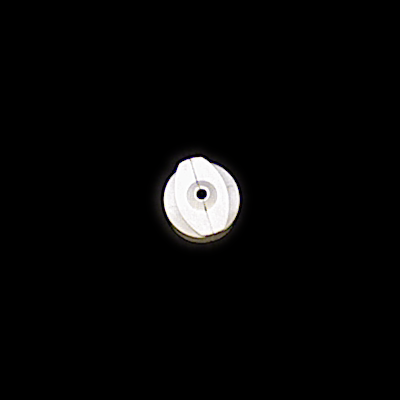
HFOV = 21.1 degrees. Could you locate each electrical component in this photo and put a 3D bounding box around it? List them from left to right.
[{"bbox_3d":[0.000,0.000,0.616,0.043,0.043,0.080,0,-6,1],"label":"electrical component"}]
